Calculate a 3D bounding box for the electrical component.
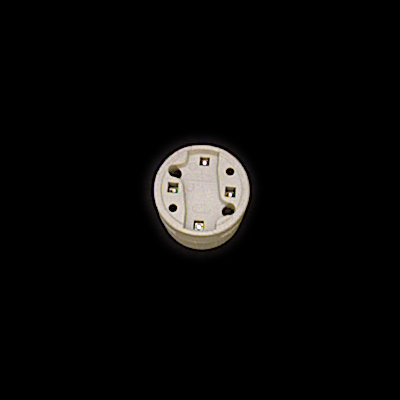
[{"bbox_3d":[0.000,0.000,0.635,0.055,0.056,0.047,0,-17,0],"label":"electrical component"}]
